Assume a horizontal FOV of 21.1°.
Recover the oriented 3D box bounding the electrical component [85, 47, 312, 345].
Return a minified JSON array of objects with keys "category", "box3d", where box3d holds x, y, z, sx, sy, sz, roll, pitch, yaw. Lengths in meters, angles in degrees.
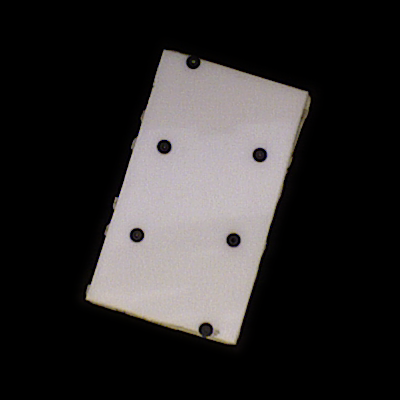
[{"category":"electrical component","box3d":[0.000,0.000,0.631,0.089,0.150,0.061,17,-6,1]}]
